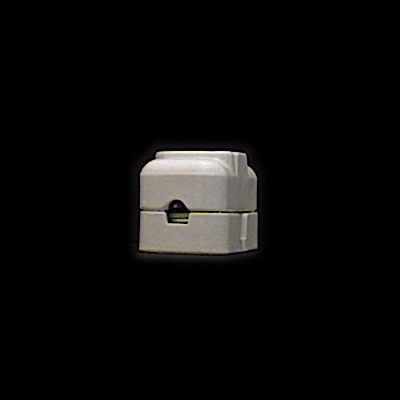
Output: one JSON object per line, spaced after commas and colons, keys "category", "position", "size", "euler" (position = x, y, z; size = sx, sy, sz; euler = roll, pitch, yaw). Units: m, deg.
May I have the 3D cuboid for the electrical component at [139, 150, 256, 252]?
{"category": "electrical component", "position": [0.000, 0.000, 0.656], "size": [0.053, 0.059, 0.095], "euler": [1, 1, 16]}
